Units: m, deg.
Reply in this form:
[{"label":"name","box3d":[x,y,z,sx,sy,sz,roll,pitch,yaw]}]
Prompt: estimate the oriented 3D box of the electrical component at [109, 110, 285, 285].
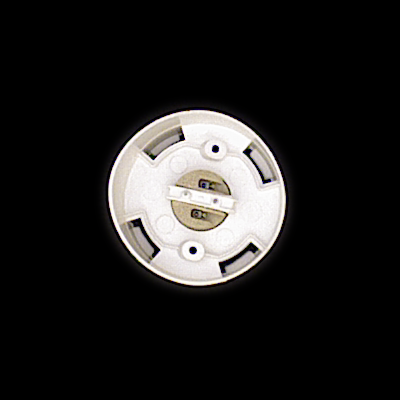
[{"label":"electrical component","box3d":[0.000,0.000,0.624,0.099,0.099,0.064,0,-7,1]}]
